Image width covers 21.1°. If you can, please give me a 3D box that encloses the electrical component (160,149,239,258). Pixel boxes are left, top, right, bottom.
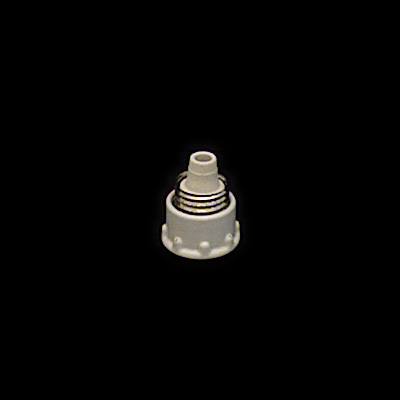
[{"bbox_3d":[0.000,0.000,0.643,0.048,0.063,0.047,2,32,-1],"label":"electrical component"}]
